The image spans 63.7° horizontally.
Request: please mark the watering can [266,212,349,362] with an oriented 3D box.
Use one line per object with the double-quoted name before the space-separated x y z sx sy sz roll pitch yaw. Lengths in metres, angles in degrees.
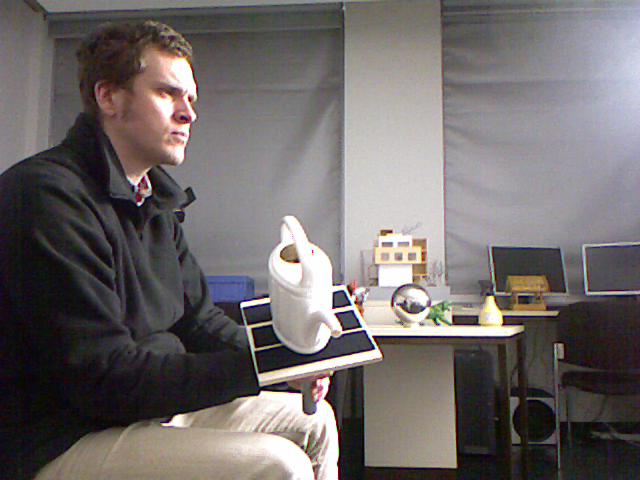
"watering can" -0.024 0.100 0.811 0.104 0.220 0.356 -9 33 -12
